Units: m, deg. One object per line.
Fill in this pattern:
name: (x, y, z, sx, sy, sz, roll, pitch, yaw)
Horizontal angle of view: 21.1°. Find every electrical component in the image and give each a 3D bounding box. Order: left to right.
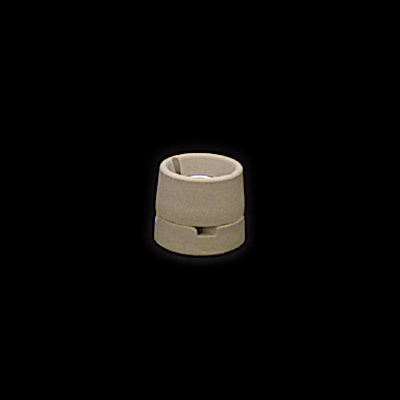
electrical component: (0.000, 0.000, 0.640, 0.055, 0.047, 0.055, 1, 22, -1)
